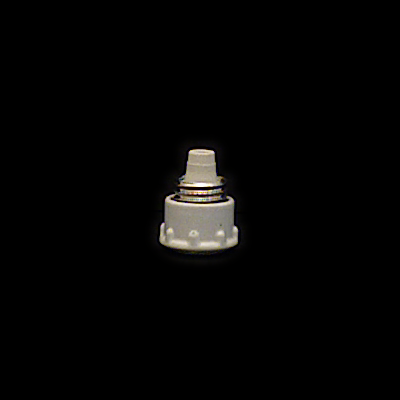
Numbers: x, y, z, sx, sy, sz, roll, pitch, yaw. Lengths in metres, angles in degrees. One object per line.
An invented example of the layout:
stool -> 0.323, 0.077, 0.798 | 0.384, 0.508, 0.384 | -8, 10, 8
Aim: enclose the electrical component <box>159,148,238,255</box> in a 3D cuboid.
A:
electrical component -> 0.000, 0.000, 0.650 | 0.048, 0.062, 0.048 | 2, 13, 0
